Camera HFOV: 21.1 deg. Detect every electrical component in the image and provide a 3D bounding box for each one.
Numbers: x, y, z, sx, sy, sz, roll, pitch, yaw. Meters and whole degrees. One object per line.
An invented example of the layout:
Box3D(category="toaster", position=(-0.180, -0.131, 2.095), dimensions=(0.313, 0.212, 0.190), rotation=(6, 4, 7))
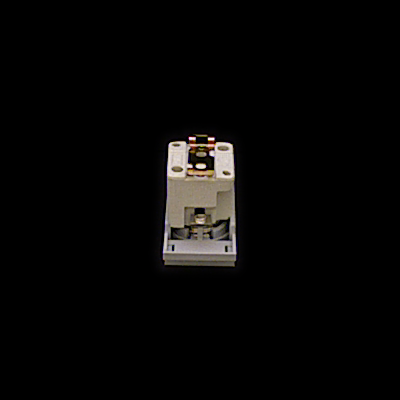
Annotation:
Box3D(category="electrical component", position=(0.000, 0.000, 0.633), dimensions=(0.042, 0.064, 0.079), rotation=(1, 31, 0))
